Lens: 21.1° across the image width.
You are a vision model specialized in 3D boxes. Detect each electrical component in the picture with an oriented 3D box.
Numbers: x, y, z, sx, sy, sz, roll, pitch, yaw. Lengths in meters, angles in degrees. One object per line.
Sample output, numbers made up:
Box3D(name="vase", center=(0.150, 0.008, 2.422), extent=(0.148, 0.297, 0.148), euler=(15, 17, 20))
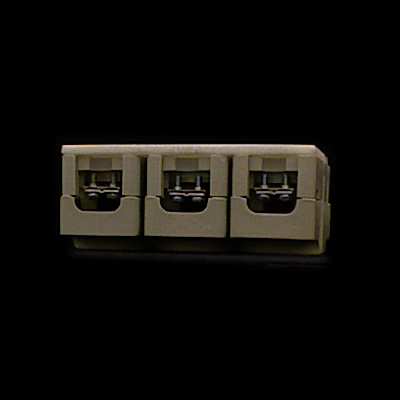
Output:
Box3D(name="electrical component", center=(0.000, 0.000, 0.658), extent=(0.150, 0.062, 0.089), euler=(1, 0, 12))
